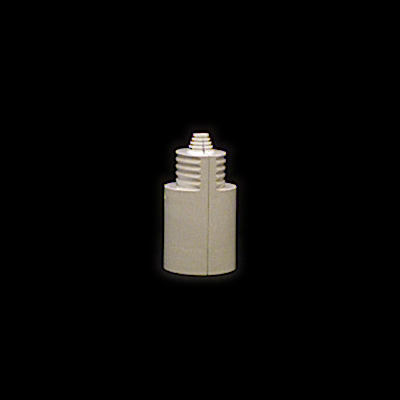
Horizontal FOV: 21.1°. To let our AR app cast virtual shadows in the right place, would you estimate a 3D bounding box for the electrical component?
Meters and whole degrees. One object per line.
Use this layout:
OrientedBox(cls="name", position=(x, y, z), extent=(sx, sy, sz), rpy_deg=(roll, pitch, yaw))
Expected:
OrientedBox(cls="electrical component", position=(0.000, 0.000, 0.643), extent=(0.043, 0.081, 0.043), rpy_deg=(1, 11, 0))
